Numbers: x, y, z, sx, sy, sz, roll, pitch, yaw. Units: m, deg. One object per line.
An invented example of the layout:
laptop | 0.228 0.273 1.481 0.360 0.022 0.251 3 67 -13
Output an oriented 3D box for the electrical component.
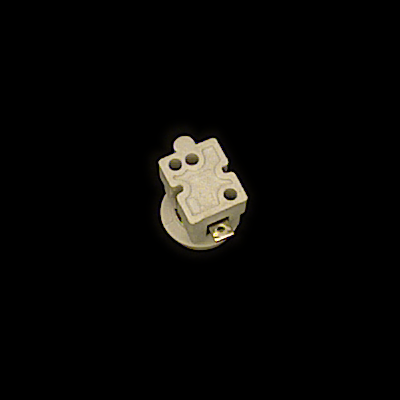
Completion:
electrical component | 0.000 0.000 0.637 0.049 0.066 0.055 -23 -24 -12
